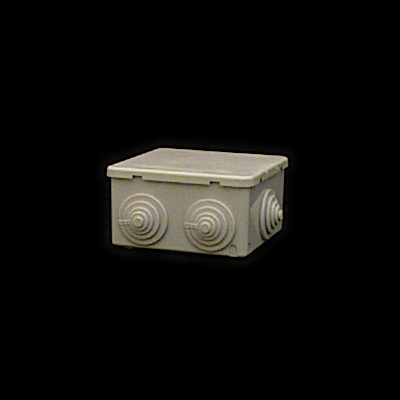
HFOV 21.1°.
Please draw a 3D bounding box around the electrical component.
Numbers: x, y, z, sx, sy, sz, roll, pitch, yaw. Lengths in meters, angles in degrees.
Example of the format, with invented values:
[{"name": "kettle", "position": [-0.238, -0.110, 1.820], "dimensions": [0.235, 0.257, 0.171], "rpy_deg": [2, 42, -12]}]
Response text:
[{"name": "electrical component", "position": [0.000, 0.000, 0.651], "dimensions": [0.099, 0.049, 0.100], "rpy_deg": [5, 12, 18]}]
